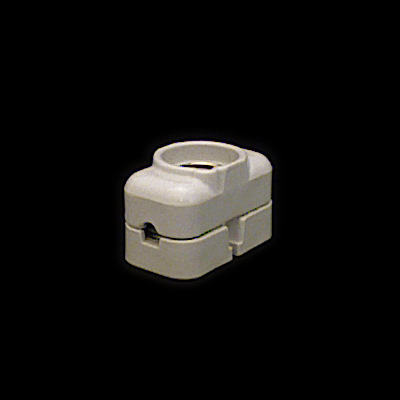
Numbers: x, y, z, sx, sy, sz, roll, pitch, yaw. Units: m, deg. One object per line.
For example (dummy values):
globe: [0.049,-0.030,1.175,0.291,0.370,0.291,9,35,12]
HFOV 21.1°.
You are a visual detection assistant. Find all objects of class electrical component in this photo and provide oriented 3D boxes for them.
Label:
electrical component: [0.000,0.000,0.645,0.053,0.060,0.095,16,26,34]
